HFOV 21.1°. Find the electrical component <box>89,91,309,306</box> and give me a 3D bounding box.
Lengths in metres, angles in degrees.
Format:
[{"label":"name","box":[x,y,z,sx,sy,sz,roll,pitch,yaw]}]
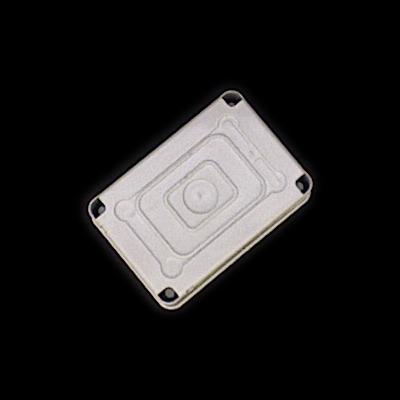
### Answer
[{"label":"electrical component","box":[0.000,0.000,0.628,0.113,0.078,0.057,-39,-5,-4]}]
